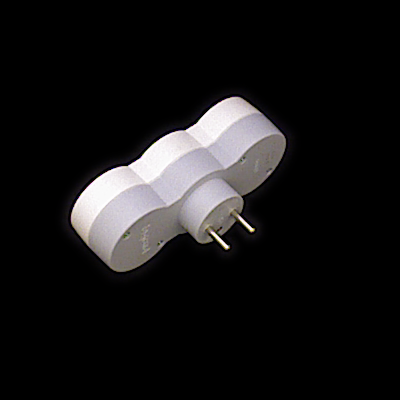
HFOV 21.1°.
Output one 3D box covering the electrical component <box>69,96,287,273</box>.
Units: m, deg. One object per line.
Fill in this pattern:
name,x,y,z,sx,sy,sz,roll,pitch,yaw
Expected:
electrical component,0.000,0.000,0.633,0.138,0.073,0.052,-33,-28,-24
